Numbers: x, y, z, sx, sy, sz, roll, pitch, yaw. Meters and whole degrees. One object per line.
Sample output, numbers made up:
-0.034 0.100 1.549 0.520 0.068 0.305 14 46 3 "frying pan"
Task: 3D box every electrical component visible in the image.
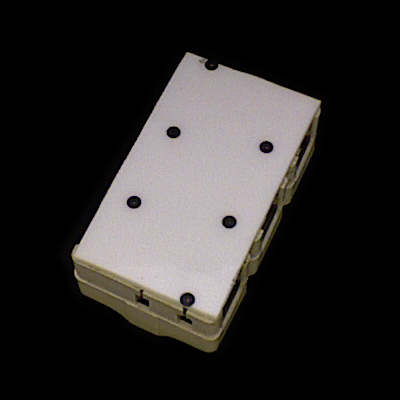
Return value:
0.000 0.000 0.629 0.089 0.149 0.062 23 -25 12 "electrical component"
